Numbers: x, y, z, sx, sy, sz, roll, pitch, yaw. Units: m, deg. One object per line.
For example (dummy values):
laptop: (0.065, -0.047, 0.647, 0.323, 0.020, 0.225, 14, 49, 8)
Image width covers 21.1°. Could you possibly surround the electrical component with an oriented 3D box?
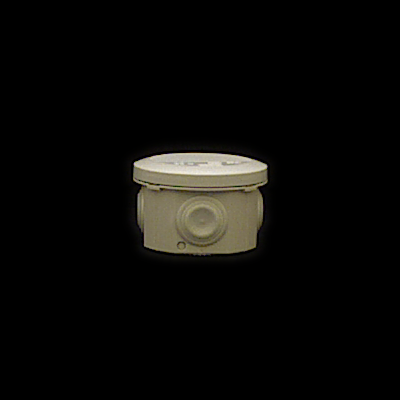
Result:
electrical component: (0.000, 0.000, 0.644, 0.080, 0.051, 0.079, 1, 10, 0)
